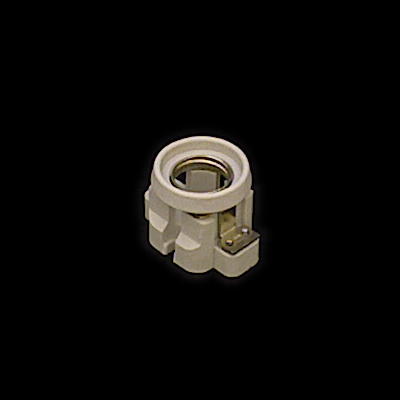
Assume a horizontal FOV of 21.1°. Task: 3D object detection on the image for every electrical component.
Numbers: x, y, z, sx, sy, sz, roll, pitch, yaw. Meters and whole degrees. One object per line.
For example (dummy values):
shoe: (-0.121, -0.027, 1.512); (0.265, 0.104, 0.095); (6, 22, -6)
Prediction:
electrical component: (0.000, 0.000, 0.631); (0.058, 0.057, 0.078); (-33, 52, -32)
